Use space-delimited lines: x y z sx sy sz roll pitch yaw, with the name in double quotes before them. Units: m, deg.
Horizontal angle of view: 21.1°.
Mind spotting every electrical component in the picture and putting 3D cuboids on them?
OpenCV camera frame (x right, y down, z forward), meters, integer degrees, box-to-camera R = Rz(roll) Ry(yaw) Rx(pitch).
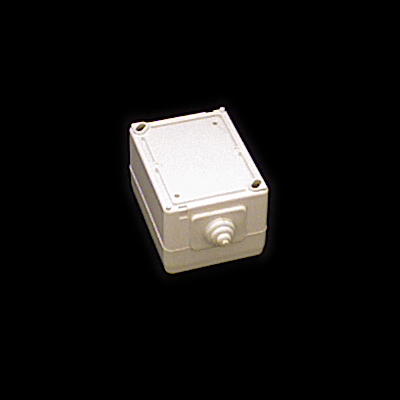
"electrical component" 0.000 0.000 0.629 0.062 0.061 0.095 -12 44 -13
